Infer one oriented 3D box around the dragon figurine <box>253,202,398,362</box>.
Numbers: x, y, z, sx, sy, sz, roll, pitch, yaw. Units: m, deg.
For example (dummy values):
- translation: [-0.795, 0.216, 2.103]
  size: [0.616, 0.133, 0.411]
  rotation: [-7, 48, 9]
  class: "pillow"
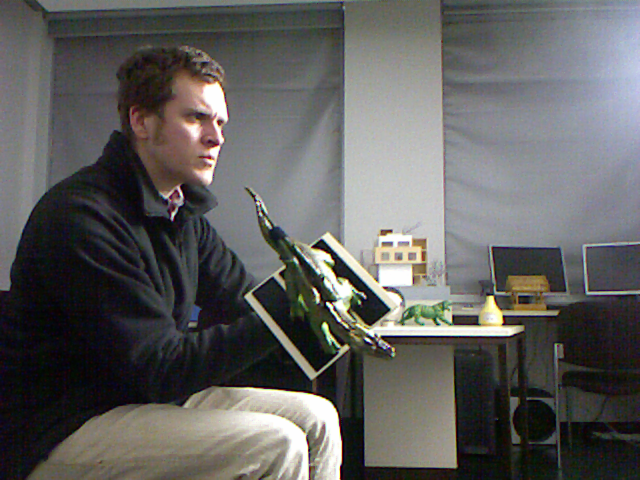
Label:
- translation: [-0.026, 0.042, 0.828]
  size: [0.123, 0.418, 0.240]
  rotation: [-37, -23, -9]
  class: "dragon figurine"
